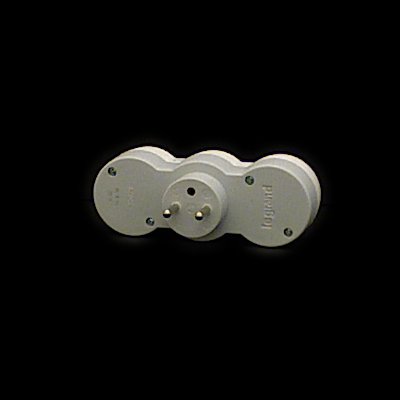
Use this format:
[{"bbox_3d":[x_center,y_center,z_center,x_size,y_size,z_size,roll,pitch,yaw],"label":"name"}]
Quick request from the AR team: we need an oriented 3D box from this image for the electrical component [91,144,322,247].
[{"bbox_3d":[0.000,0.000,0.649,0.137,0.052,0.073,4,13,14],"label":"electrical component"}]
